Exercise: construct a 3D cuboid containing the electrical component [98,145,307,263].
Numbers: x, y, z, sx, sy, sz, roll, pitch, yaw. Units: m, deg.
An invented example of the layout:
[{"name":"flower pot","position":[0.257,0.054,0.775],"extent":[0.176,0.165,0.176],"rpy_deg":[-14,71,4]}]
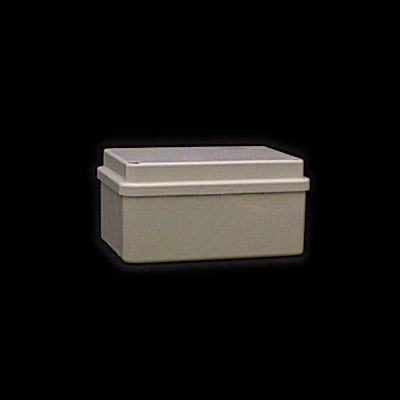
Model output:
[{"name":"electrical component","position":[0.000,0.000,0.646],"extent":[0.113,0.057,0.077],"rpy_deg":[-2,11,-17]}]
